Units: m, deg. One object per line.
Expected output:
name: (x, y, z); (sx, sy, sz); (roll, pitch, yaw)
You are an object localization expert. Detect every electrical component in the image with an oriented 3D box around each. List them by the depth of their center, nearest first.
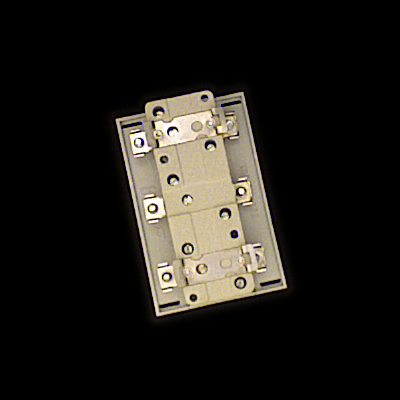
electrical component: (0.000, 0.000, 0.635); (0.079, 0.121, 0.063); (-12, -6, -2)
